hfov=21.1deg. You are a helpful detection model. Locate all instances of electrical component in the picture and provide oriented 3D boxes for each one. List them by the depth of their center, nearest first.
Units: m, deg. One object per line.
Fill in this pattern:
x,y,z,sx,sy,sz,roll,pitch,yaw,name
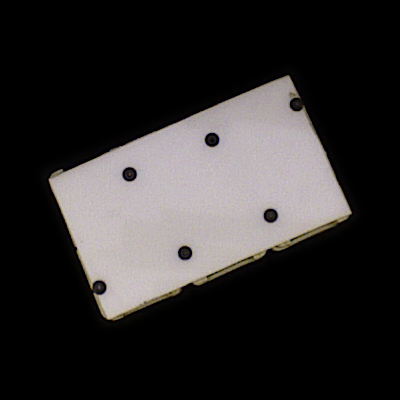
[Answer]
0.000,0.000,0.631,0.150,0.089,0.061,-23,-6,-2,electrical component
